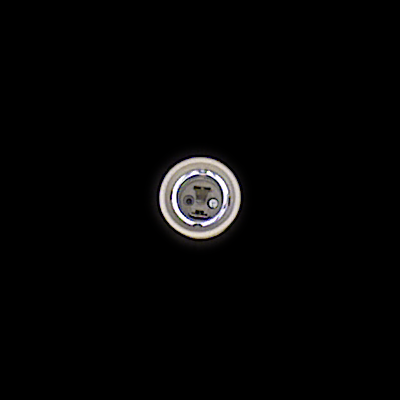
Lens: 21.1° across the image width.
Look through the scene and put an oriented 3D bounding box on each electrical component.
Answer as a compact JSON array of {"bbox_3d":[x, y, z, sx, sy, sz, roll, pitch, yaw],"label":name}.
[{"bbox_3d":[0.000,0.000,0.629,0.045,0.045,0.055,0,-5,1],"label":"electrical component"}]
